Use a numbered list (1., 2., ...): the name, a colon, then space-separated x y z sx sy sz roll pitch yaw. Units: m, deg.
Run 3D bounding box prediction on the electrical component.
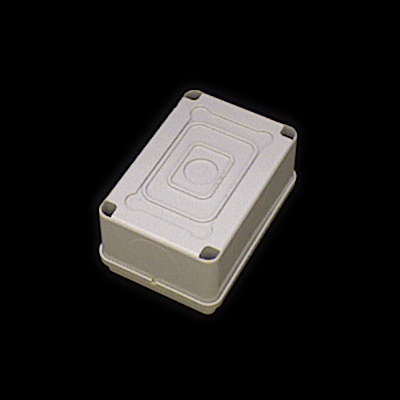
1. electrical component: 0.000 0.000 0.629 0.078 0.113 0.057 23 -34 16
